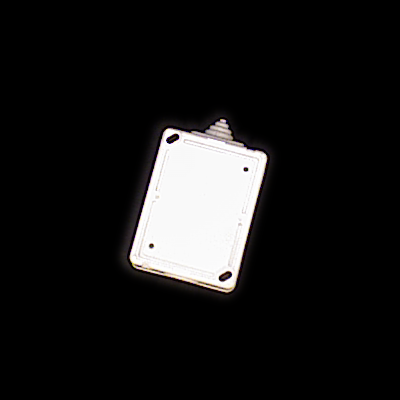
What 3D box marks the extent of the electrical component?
[{"bbox_3d":[0.000,0.000,0.629,0.062,0.096,0.061,15,-7,2],"label":"electrical component"}]
